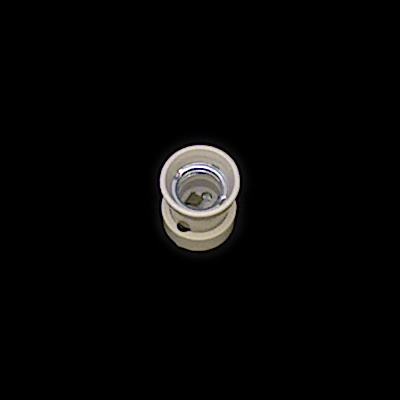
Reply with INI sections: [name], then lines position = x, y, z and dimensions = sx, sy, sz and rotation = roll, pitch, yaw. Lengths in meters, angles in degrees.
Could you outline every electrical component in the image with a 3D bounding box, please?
[electrical component]
position = 0.000, 0.000, 0.628
dimensions = 0.045, 0.045, 0.055
rotation = 0, -26, -1
